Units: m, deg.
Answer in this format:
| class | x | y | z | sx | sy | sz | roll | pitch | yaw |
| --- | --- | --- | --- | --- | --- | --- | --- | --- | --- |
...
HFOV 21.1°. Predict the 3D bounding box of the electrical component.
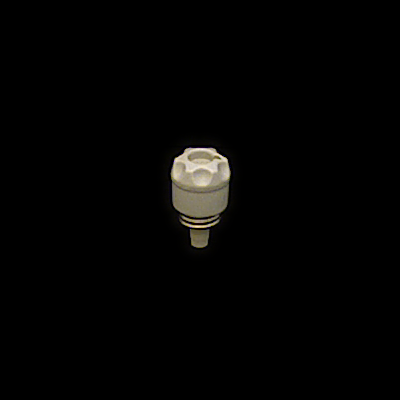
| class | x | y | z | sx | sy | sz | roll | pitch | yaw |
| --- | --- | --- | --- | --- | --- | --- | --- | --- | --- |
| electrical component | 0.000 | 0.000 | 0.640 | 0.035 | 0.062 | 0.034 | 1 | 33 | 0 |
